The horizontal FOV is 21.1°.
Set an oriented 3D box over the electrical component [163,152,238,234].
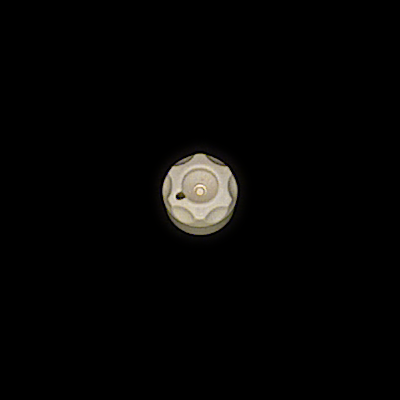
[{"bbox_3d":[0.000,0.000,0.634,0.043,0.043,0.061,0,-17,0],"label":"electrical component"}]
